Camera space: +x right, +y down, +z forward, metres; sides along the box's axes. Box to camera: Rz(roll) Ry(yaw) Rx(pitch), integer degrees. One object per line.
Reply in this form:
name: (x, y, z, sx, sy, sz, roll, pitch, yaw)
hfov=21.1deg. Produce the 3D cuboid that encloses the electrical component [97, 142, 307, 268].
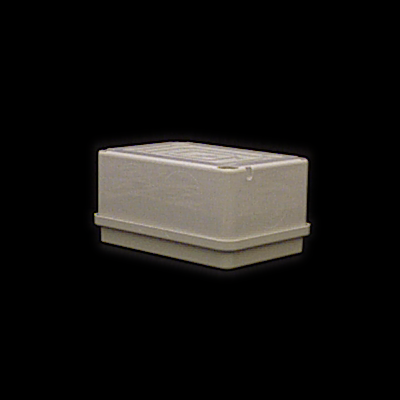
electrical component: (0.000, 0.000, 0.644, 0.112, 0.057, 0.078, 10, 14, 42)
